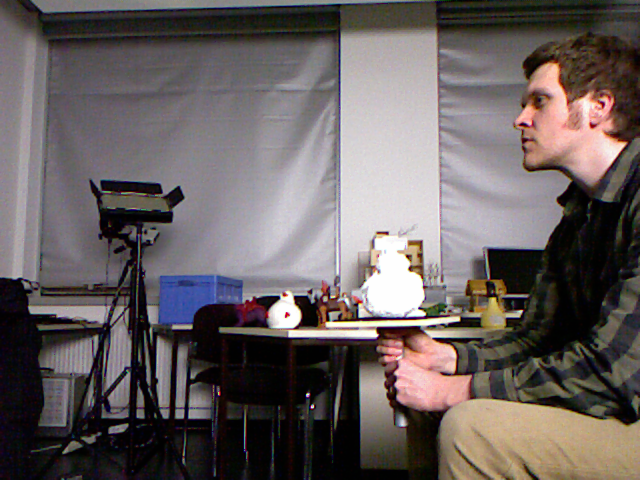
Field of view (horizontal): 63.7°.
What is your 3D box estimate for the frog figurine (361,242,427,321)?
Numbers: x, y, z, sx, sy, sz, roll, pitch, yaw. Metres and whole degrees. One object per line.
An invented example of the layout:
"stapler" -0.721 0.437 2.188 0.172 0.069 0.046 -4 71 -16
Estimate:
"frog figurine" 0.147 0.082 1.044 0.123 0.160 0.136 3 -8 -42
